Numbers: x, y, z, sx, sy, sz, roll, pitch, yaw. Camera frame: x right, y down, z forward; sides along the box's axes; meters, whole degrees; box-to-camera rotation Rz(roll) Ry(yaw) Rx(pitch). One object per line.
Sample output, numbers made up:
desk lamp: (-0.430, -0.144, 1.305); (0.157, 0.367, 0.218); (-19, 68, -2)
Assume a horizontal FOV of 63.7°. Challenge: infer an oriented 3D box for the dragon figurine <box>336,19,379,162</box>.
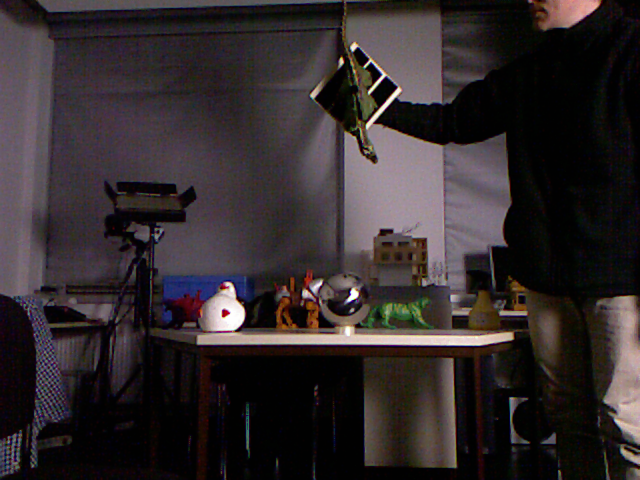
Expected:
dragon figurine: (0.106, -0.424, 1.487); (0.122, 0.405, 0.247); (-14, 21, 4)
